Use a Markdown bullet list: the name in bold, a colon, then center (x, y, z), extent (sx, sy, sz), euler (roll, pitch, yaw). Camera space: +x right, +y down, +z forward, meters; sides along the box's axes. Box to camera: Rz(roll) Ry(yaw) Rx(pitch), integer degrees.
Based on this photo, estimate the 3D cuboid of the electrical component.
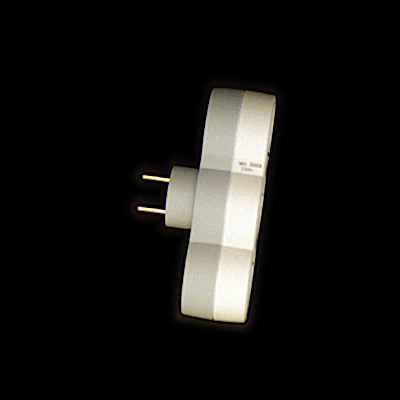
- **electrical component**: center (0.000, 0.000, 0.639), extent (0.073, 0.138, 0.052), euler (8, -6, 2)
